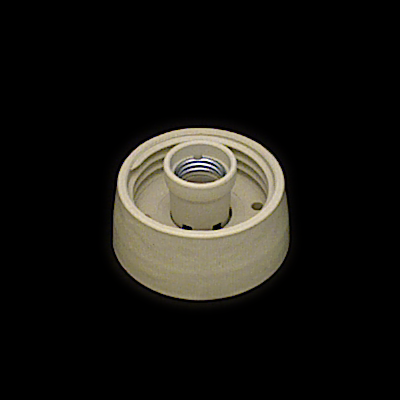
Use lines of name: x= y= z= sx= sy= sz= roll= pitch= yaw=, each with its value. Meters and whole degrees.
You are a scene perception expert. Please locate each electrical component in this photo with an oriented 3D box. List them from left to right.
electrical component: x=0.000 y=0.000 z=0.638 sx=0.108 sy=0.061 sz=0.107 roll=1 pitch=43 yaw=0
